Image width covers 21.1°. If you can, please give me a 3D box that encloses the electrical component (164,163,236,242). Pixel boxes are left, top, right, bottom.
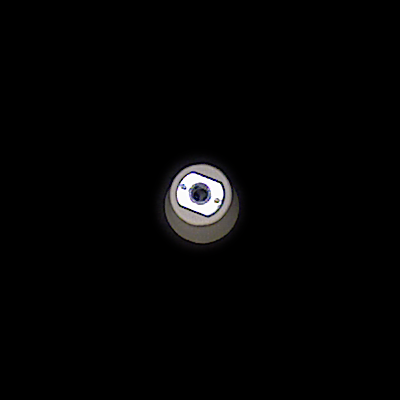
[{"bbox_3d":[0.000,0.000,0.626,0.044,0.044,0.065,0,-7,0],"label":"electrical component"}]
